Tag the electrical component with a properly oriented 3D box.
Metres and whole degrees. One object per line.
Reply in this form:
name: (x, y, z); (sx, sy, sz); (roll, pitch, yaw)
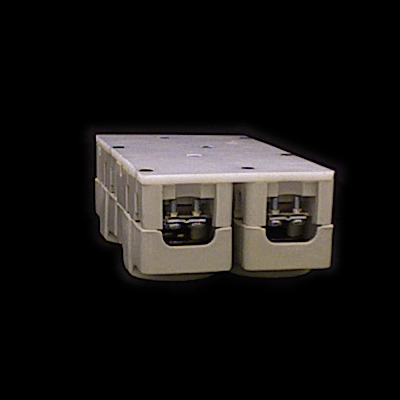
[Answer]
electrical component: (0.000, 0.000, 0.644); (0.106, 0.061, 0.184); (-1, 10, -13)
